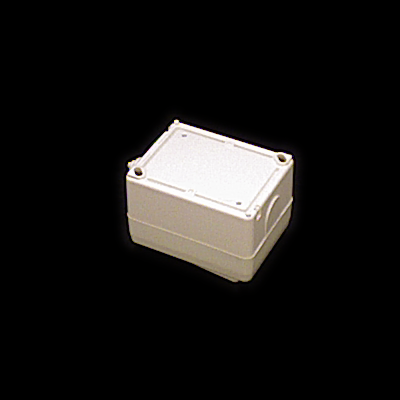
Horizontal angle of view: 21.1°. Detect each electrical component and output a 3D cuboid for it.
[{"bbox_3d":[0.000,0.000,0.634,0.096,0.061,0.061,19,45,20],"label":"electrical component"}]
